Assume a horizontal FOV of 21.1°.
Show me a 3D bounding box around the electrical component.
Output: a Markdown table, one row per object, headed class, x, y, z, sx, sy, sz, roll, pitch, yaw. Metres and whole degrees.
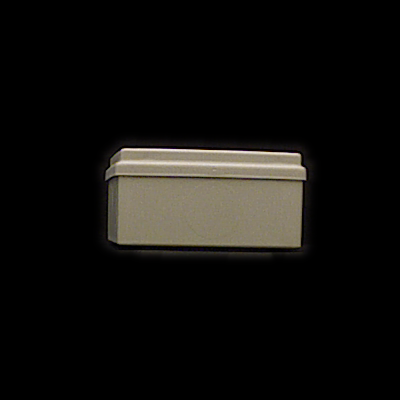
| class | x | y | z | sx | sy | sz | roll | pitch | yaw |
| --- | --- | --- | --- | --- | --- | --- | --- | --- | --- |
| electrical component | 0.000 | 0.000 | 0.651 | 0.109 | 0.056 | 0.108 | 1 | 0 | -9 |
